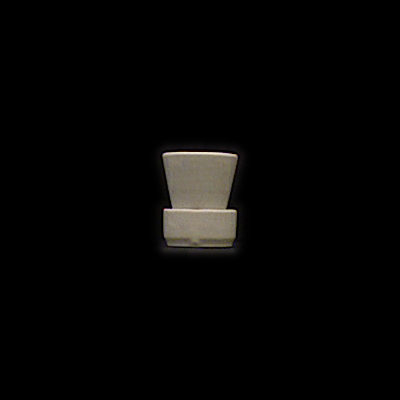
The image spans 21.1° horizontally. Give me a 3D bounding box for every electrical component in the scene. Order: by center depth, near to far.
[{"bbox_3d":[0.000,0.000,0.648,0.045,0.055,0.045,1,0,0],"label":"electrical component"}]
